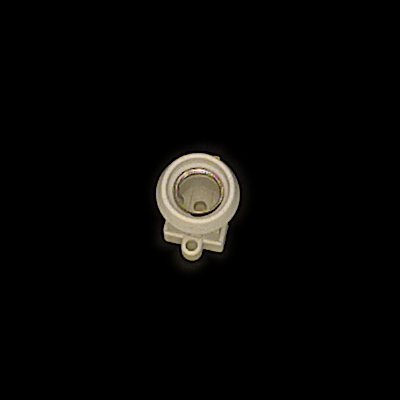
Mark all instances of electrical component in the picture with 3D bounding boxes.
[{"bbox_3d":[0.000,0.000,0.637,0.048,0.067,0.055,11,-16,1],"label":"electrical component"}]
